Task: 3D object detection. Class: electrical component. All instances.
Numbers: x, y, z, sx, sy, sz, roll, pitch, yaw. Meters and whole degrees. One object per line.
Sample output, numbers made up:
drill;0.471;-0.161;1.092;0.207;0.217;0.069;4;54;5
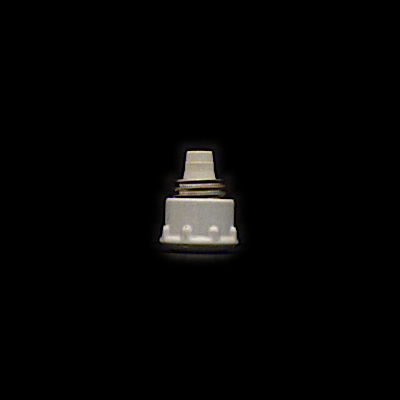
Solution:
electrical component;0.000;0.000;0.654;0.048;0.062;0.048;0;2;1
